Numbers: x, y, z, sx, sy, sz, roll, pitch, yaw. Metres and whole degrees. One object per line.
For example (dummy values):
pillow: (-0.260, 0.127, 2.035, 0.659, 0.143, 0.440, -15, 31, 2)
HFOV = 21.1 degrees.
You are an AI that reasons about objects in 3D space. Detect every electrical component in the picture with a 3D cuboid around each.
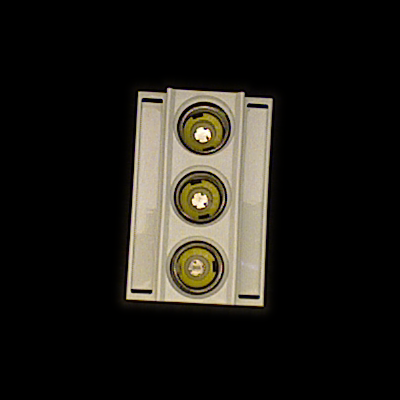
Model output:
electrical component: (0.000, 0.000, 0.637, 0.079, 0.121, 0.063, 3, -6, 0)
